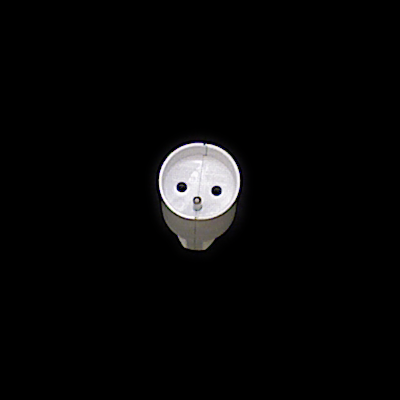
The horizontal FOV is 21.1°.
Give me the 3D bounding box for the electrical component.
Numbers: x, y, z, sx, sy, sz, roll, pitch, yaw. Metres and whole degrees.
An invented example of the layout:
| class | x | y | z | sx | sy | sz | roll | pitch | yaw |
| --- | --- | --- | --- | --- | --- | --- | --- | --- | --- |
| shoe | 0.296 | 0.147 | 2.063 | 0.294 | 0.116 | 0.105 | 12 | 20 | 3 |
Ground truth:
| class | x | y | z | sx | sy | sz | roll | pitch | yaw |
| --- | --- | --- | --- | --- | --- | --- | --- | --- | --- |
| electrical component | 0.000 | 0.000 | 0.614 | 0.043 | 0.043 | 0.080 | 0 | -16 | 1 |
